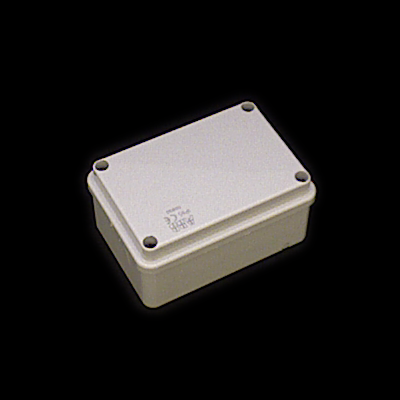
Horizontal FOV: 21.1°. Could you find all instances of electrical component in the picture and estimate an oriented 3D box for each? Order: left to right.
[{"bbox_3d":[0.000,0.000,0.627,0.113,0.078,0.057,-23,-34,-18],"label":"electrical component"}]
